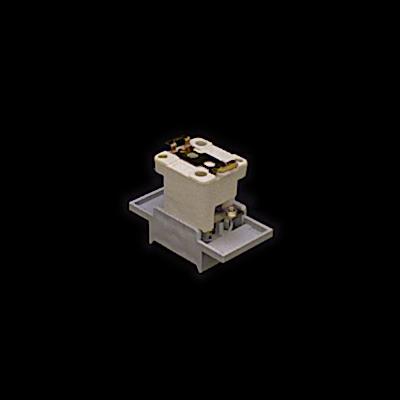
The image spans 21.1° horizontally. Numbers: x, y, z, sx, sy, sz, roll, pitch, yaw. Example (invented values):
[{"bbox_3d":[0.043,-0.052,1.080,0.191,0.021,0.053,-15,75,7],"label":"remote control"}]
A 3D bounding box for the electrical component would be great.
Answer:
[{"bbox_3d":[0.000,0.000,0.634,0.080,0.064,0.042,28,40,37],"label":"electrical component"}]
